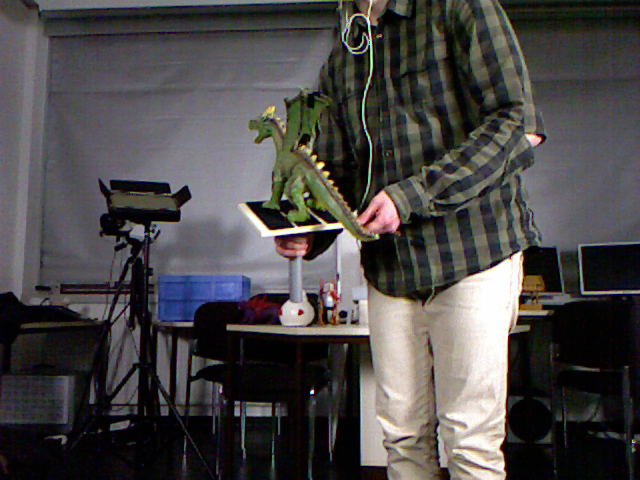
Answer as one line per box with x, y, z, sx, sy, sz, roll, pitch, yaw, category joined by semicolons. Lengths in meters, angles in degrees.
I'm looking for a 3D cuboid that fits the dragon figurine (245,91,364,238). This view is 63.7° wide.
-0.032;-0.172;1.030;0.123;0.239;0.415;-16;28;-34;dragon figurine
